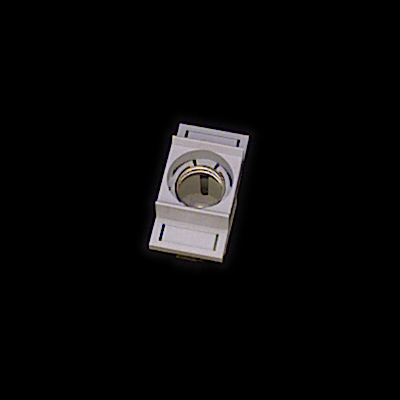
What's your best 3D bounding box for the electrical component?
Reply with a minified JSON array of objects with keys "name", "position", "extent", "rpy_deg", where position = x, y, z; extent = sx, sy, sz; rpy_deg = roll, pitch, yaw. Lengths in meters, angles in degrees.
[{"name":"electrical component","position":[0.000,0.000,0.623],"extent":[0.042,0.081,0.063],"rpy_deg":[11,-27,4]}]
